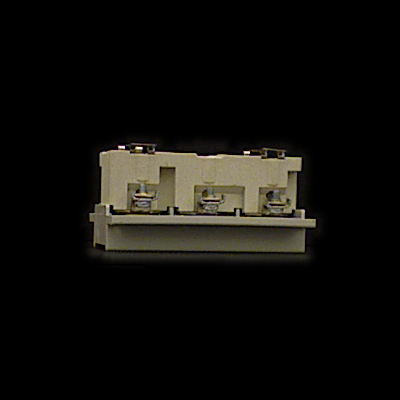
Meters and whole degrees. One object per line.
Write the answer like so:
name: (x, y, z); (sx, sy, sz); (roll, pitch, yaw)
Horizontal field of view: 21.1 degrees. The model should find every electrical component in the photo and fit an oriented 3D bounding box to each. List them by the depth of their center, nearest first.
electrical component: (0.000, 0.000, 0.654); (0.122, 0.063, 0.078); (1, 1, -16)
